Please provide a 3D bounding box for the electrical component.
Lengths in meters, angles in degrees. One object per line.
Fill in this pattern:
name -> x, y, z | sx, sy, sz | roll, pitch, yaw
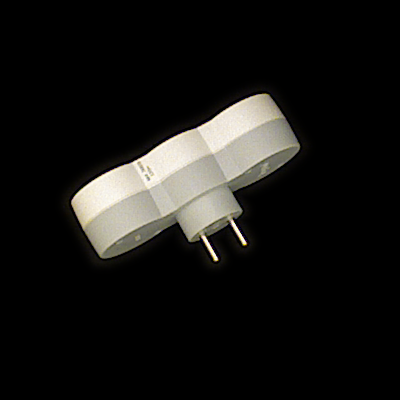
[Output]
electrical component -> 0.000, 0.000, 0.637 | 0.139, 0.074, 0.052 | -28, -13, -8
